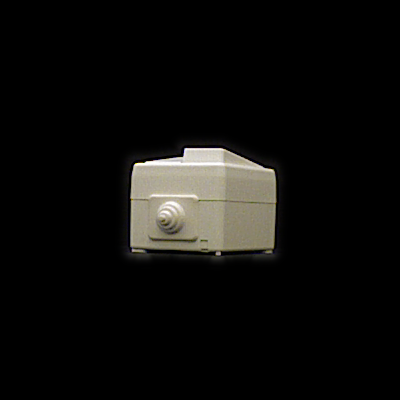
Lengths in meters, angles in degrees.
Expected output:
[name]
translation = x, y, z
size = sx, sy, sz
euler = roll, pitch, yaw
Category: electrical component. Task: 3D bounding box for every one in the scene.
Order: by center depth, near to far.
[electrical component]
translation = 0.000, 0.000, 0.648
size = 0.061, 0.061, 0.096
euler = 1, 0, 27
